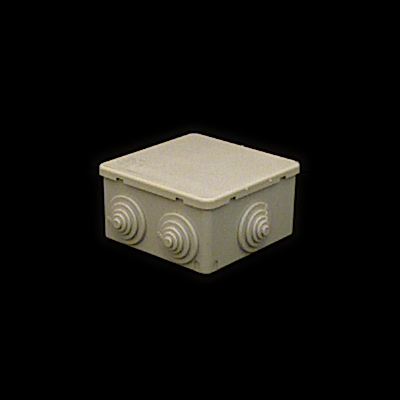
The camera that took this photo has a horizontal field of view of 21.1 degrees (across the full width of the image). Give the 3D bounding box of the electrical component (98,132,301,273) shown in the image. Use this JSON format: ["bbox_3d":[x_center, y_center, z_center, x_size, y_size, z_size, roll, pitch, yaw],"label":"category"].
[{"bbox_3d":[0.000,0.000,0.647,0.098,0.049,0.100,19,28,37],"label":"electrical component"}]
